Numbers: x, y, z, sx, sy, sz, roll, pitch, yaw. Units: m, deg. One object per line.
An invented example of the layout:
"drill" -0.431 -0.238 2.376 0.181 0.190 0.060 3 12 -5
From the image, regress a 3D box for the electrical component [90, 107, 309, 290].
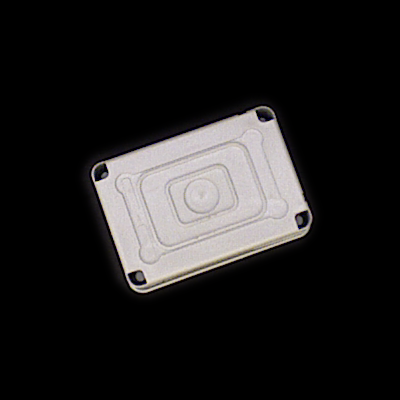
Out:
"electrical component" 0.000 0.000 0.628 0.113 0.078 0.057 -19 -6 -1
